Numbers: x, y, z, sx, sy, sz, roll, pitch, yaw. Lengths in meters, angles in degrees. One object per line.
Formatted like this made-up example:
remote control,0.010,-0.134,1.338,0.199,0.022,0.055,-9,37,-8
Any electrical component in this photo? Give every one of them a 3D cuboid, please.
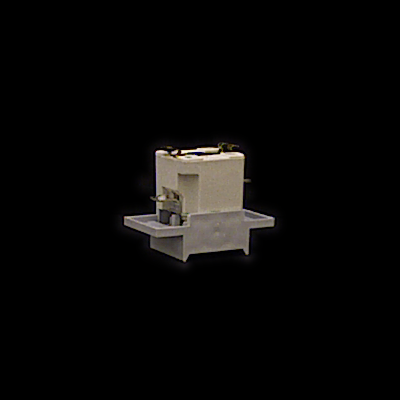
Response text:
electrical component,0.000,0.000,0.643,0.081,0.064,0.042,-5,13,-31
